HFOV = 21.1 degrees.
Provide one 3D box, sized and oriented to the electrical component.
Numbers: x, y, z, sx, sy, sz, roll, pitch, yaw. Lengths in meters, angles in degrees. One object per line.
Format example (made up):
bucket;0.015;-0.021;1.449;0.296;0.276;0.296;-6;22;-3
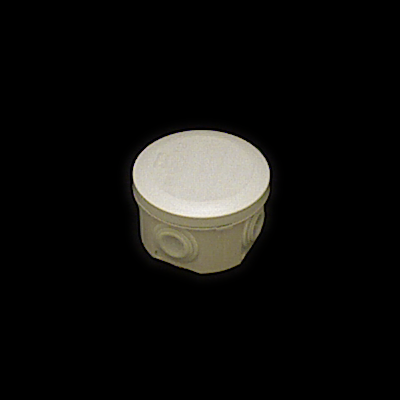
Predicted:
electrical component;0.000;0.000;0.635;0.080;0.051;0.079;1;42;0
